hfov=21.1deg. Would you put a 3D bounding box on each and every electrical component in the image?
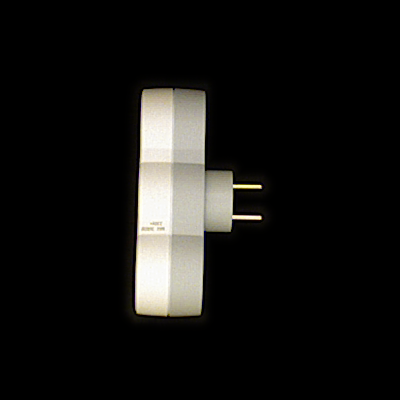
[{"bbox_3d":[0.000,0.000,0.637,0.074,0.139,0.052,1,-16,-1],"label":"electrical component"}]
